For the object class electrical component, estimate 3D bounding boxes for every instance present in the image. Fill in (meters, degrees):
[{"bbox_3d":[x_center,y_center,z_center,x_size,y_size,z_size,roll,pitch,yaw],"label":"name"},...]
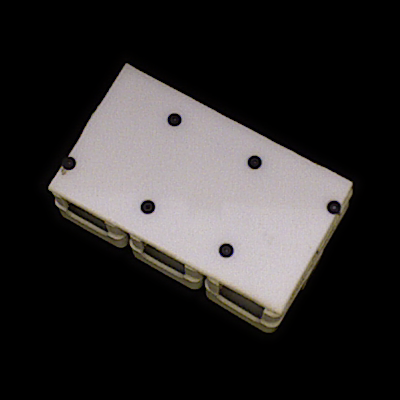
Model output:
[{"bbox_3d":[0.000,0.000,0.631,0.150,0.089,0.062,29,-14,8],"label":"electrical component"}]
